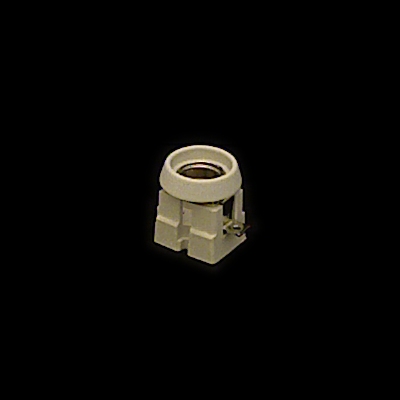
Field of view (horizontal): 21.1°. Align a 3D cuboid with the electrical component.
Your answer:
[{"bbox_3d":[0.000,0.000,0.643,0.066,0.056,0.048,20,39,27],"label":"electrical component"}]
